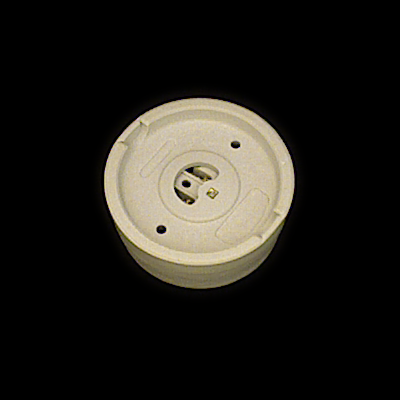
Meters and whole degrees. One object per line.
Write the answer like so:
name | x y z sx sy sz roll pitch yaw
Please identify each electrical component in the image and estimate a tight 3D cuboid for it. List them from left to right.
electrical component | 0.000 0.000 0.634 0.108 0.108 0.060 0 -27 0
